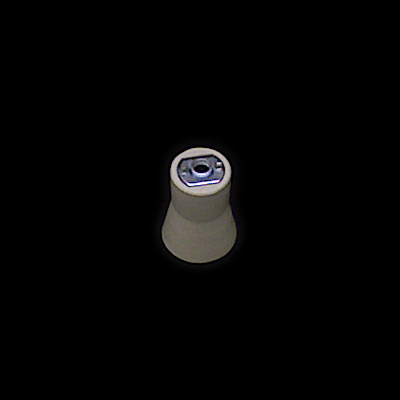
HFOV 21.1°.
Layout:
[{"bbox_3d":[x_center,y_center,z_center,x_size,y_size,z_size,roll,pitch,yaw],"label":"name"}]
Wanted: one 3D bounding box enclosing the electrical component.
[{"bbox_3d":[0.000,0.000,0.625,0.044,0.044,0.065,0,-37,-1],"label":"electrical component"}]
